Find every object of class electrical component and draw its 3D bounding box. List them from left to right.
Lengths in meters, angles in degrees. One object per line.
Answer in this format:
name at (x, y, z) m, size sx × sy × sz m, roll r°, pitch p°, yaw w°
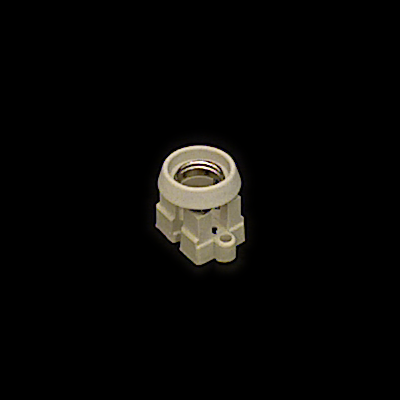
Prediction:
electrical component at (0.000, 0.000, 0.640) m, size 0.049 × 0.056 × 0.065 m, roll -27°, pitch 50°, yaw -29°
